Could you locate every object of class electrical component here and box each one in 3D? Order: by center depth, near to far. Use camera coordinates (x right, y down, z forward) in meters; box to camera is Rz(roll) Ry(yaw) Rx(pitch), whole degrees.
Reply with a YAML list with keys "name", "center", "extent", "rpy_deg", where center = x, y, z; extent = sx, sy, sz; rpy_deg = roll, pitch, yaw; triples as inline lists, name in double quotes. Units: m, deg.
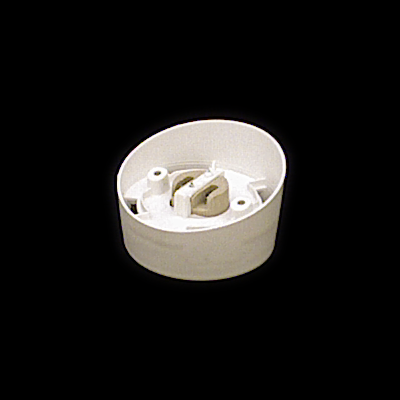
- name: "electrical component"
  center: [0.000, 0.000, 0.634]
  extent: [0.099, 0.065, 0.097]
  rpy_deg: [1, 30, 0]
